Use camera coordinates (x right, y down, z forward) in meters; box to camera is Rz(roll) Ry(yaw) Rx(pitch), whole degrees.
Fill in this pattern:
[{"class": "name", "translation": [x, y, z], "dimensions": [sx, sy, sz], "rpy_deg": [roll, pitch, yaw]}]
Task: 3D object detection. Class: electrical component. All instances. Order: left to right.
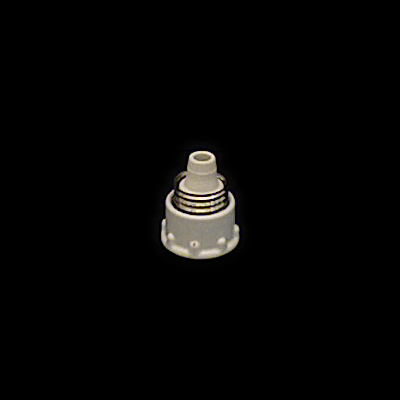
[{"class": "electrical component", "translation": [0.000, 0.000, 0.643], "dimensions": [0.048, 0.063, 0.047], "rpy_deg": [2, 32, 0]}]
